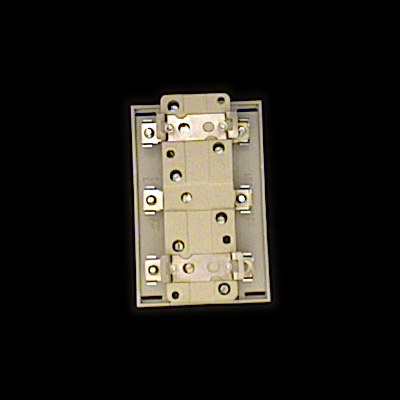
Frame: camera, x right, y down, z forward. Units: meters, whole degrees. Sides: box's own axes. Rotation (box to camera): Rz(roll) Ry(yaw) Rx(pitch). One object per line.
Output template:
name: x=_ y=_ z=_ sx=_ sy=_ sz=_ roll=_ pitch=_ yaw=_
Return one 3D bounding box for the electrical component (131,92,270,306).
electrical component: x=0.000 y=0.000 z=0.635 sx=0.079 sy=0.121 sz=0.063 roll=-2 pitch=-6 yaw=-1
